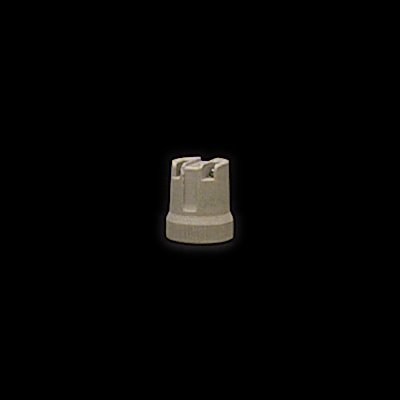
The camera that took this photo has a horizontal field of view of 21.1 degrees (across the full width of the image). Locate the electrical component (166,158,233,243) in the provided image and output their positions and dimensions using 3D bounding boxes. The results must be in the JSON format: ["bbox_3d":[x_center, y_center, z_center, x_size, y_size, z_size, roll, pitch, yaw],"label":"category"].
[{"bbox_3d":[0.000,0.000,0.645,0.040,0.046,0.040,1,11,0],"label":"electrical component"}]
